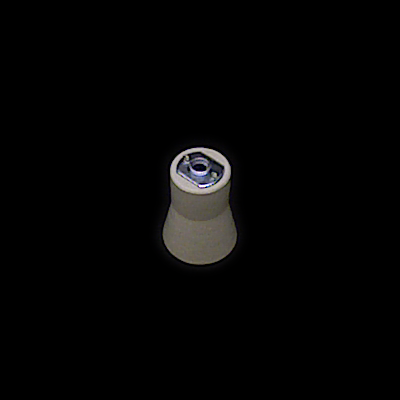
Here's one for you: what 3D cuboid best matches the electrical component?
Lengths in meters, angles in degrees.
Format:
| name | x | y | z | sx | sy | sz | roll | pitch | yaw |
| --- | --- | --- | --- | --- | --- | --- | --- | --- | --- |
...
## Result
| name | x | y | z | sx | sy | sz | roll | pitch | yaw |
| --- | --- | --- | --- | --- | --- | --- | --- | --- | --- |
| electrical component | 0.000 | 0.000 | 0.627 | 0.044 | 0.044 | 0.065 | 0 | -39 | -1 |
